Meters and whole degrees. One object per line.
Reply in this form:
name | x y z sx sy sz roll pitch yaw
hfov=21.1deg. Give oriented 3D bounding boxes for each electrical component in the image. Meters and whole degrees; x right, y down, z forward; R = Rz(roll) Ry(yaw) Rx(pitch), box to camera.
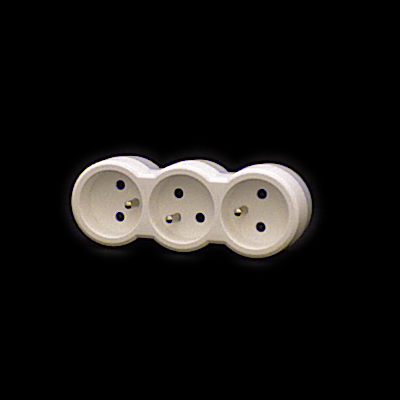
electrical component | 0.000 0.000 0.645 0.138 0.052 0.073 3 9 16
